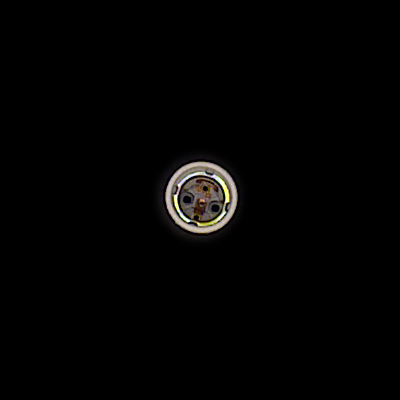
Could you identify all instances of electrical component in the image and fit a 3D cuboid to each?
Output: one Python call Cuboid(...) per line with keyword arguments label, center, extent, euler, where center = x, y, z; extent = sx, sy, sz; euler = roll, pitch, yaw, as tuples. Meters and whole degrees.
Cuboid(label="electrical component", center=(0.000, 0.000, 0.627), extent=(0.040, 0.040, 0.046), euler=(0, -6, 0))
